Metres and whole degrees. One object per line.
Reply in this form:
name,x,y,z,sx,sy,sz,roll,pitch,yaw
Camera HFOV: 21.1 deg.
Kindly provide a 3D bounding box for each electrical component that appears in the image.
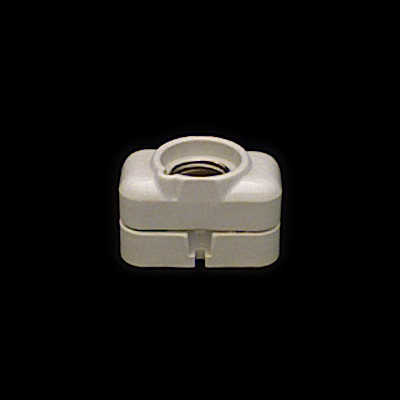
electrical component,0.000,0.000,0.640,0.095,0.060,0.053,0,32,-1
